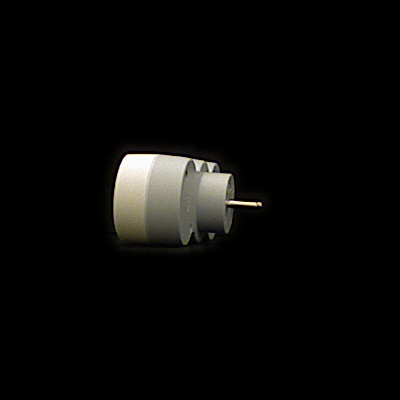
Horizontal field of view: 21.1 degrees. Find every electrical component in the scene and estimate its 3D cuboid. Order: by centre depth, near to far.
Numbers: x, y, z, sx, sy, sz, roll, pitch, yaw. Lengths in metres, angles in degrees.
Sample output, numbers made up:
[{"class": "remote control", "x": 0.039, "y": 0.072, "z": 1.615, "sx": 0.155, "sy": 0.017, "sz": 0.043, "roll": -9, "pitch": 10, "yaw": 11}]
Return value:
[{"class": "electrical component", "x": 0.000, "y": 0.000, "z": 0.654, "sx": 0.073, "sy": 0.052, "sz": 0.138, "roll": 3, "pitch": 1, "yaw": 10}]
